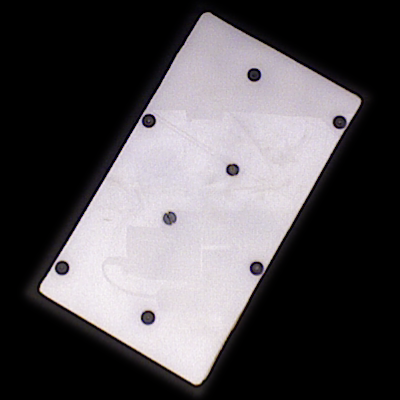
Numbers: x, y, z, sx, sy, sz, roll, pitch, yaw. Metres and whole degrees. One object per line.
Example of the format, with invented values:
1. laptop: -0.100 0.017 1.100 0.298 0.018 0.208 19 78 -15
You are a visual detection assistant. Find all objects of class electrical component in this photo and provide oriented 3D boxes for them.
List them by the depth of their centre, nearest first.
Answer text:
1. electrical component: 0.000 0.000 0.626 0.105 0.187 0.060 30 -6 4
